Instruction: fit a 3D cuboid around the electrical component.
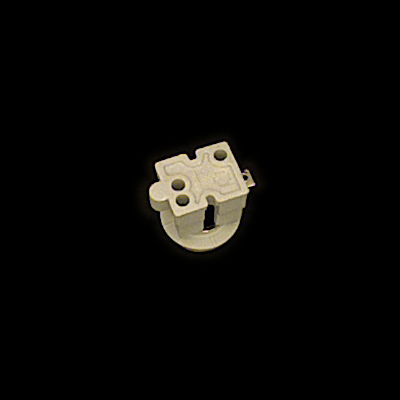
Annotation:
[{"bbox_3d":[0.000,0.000,0.637,0.067,0.048,0.055,-18,-27,-10],"label":"electrical component"}]
